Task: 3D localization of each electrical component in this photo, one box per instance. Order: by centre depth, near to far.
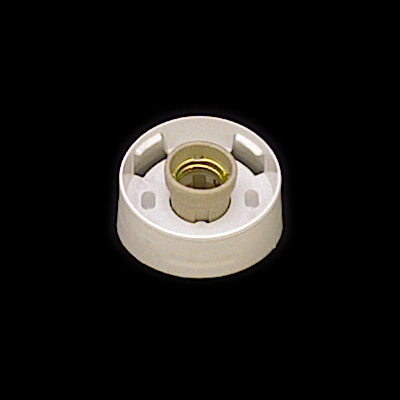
[{"bbox_3d":[0.000,0.000,0.626,0.099,0.098,0.064,0,-38,-1],"label":"electrical component"}]
